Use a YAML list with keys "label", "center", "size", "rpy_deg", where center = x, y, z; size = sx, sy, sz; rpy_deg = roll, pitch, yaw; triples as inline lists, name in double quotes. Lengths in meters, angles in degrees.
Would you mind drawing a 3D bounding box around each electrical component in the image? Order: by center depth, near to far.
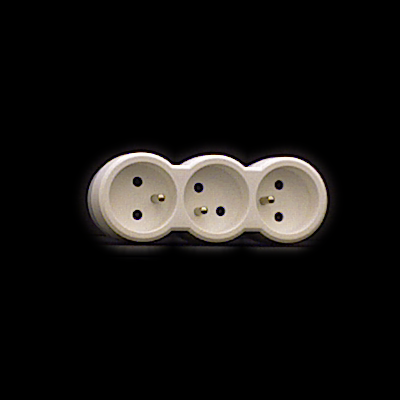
- label: "electrical component"
  center: [0.000, 0.000, 0.648]
  size: [0.138, 0.052, 0.073]
  rpy_deg: [1, -2, -16]
